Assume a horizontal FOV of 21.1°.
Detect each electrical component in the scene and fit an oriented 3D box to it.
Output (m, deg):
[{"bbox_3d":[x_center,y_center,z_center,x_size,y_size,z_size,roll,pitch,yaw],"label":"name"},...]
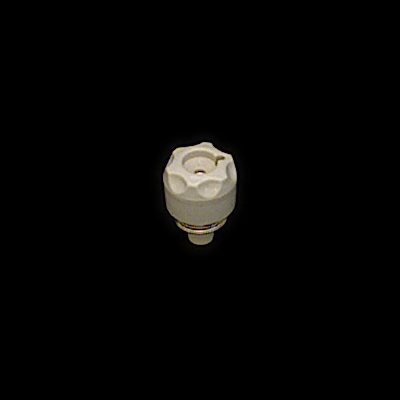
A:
[{"bbox_3d":[0.000,0.000,0.637,0.043,0.062,0.043,0,43,1],"label":"electrical component"}]
